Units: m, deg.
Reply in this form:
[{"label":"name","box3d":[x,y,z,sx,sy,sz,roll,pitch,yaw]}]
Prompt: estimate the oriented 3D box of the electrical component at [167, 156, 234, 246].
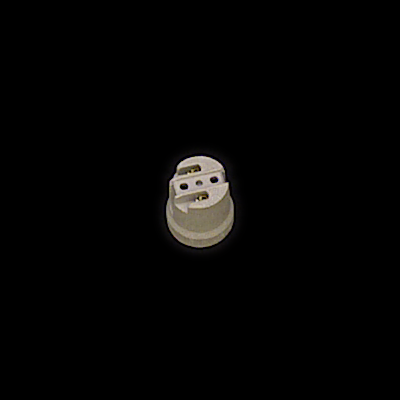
[{"label":"electrical component","box3d":[0.000,0.000,0.633,0.040,0.040,0.046,0,-27,0]}]
